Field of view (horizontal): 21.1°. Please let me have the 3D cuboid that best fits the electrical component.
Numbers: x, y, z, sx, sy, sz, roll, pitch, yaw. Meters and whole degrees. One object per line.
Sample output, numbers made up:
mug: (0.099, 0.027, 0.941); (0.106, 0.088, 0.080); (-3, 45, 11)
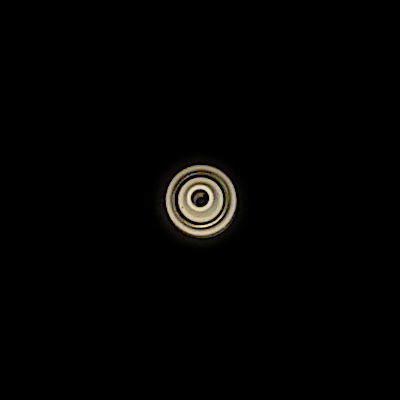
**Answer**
electrical component: (0.000, 0.000, 0.634); (0.043, 0.043, 0.062); (0, -4, 1)
